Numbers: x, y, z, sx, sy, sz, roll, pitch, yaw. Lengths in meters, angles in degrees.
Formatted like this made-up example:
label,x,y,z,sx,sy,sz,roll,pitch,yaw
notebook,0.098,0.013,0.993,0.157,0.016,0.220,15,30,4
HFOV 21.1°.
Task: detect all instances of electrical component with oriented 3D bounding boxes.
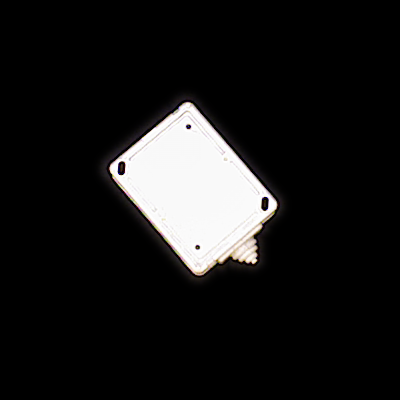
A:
label,x,y,z,sx,sy,sz,roll,pitch,yaw
electrical component,0.000,0.000,0.629,0.062,0.096,0.061,-40,-5,-4
